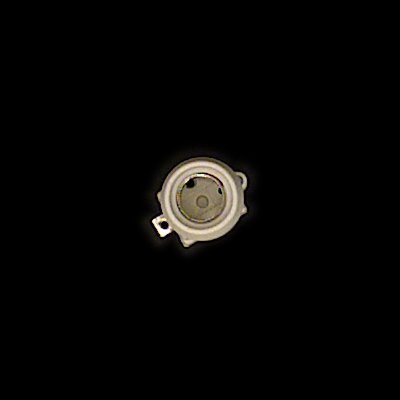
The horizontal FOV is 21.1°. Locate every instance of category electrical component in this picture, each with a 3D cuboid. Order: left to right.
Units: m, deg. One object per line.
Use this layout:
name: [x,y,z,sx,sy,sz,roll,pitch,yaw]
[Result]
electrical component: [0.000,0.000,0.639,0.066,0.048,0.055,-32,-7,-3]
